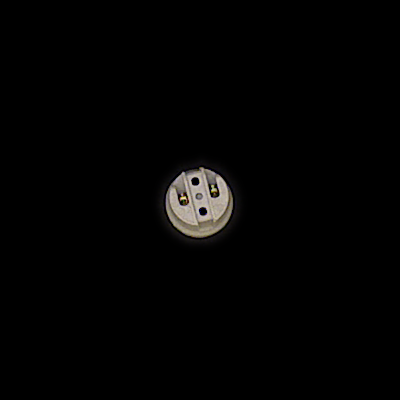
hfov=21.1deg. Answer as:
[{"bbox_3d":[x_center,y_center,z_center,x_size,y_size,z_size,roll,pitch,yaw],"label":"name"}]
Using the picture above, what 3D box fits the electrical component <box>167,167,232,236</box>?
[{"bbox_3d":[0.000,0.000,0.635,0.040,0.040,0.046,0,-6,0],"label":"electrical component"}]
